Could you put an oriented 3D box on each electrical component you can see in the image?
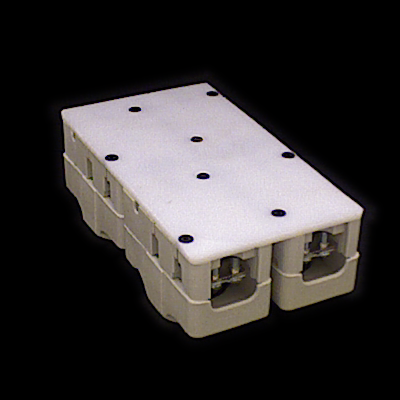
[{"bbox_3d":[0.000,0.000,0.634,0.105,0.061,0.184,-15,35,-24],"label":"electrical component"}]
